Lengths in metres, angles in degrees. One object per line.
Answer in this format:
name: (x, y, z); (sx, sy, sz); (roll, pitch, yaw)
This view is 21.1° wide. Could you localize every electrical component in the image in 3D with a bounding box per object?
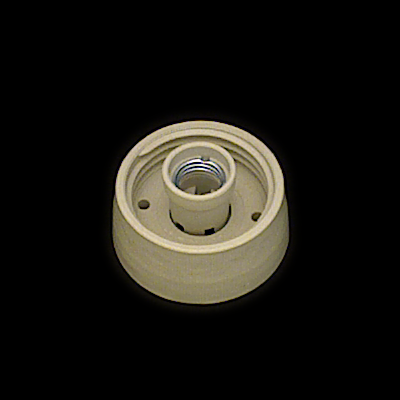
electrical component: (0.000, 0.000, 0.636); (0.108, 0.107, 0.060); (0, -37, 0)
